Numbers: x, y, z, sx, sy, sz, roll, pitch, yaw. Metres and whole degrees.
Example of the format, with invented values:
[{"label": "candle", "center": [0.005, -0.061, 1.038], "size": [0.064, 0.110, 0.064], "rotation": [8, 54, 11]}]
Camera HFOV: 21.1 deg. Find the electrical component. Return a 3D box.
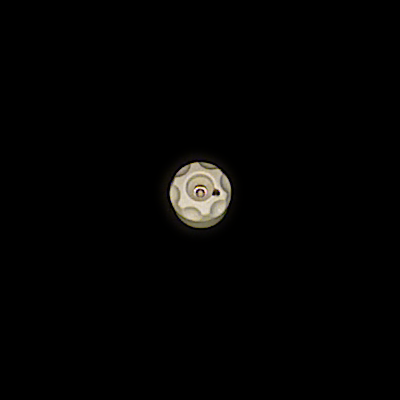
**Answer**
[{"label": "electrical component", "center": [0.000, 0.000, 0.633], "size": [0.035, 0.035, 0.061], "rotation": [0, -15, 1]}]
